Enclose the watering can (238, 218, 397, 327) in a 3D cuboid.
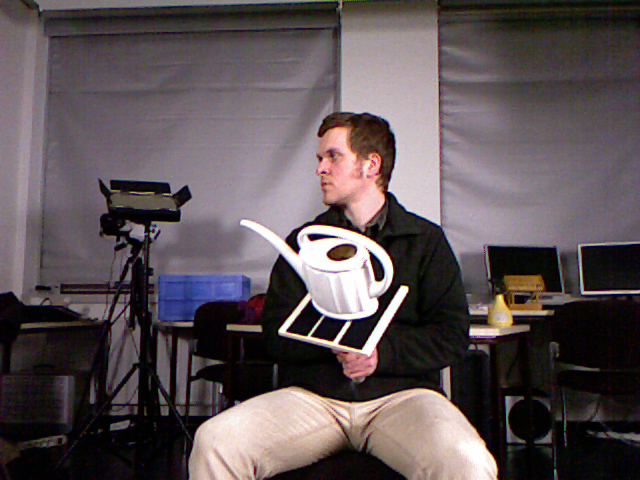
[{"bbox_3d":[-0.003,0.055,1.036,0.349,0.220,0.106,11,40,31],"label":"watering can"}]
